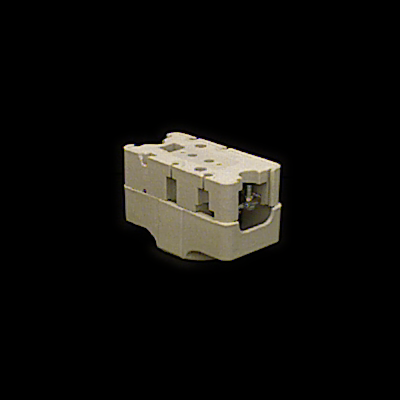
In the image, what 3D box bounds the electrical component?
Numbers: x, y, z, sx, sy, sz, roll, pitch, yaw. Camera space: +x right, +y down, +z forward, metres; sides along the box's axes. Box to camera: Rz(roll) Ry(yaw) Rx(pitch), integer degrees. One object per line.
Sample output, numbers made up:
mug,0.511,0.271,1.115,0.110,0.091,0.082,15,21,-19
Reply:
electrical component,0.000,0.000,0.646,0.088,0.056,0.050,20,30,41
